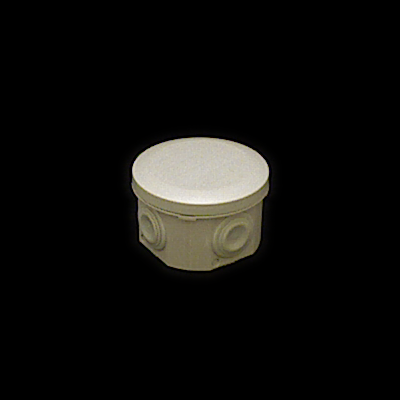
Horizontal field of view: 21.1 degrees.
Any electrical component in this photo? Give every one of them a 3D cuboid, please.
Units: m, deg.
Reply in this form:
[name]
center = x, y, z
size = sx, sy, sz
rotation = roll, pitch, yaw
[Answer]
[electrical component]
center = 0.000, 0.000, 0.634
size = 0.080, 0.051, 0.079
rotation = 1, 31, 0
